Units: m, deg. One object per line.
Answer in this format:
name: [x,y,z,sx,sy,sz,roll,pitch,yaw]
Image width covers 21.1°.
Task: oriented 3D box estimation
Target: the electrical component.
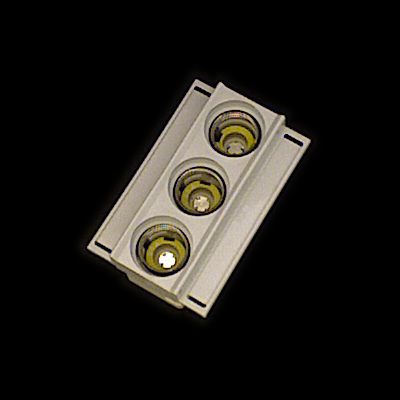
electrical component: [0.000,0.000,0.637,0.078,0.122,0.063,30,-14,10]
